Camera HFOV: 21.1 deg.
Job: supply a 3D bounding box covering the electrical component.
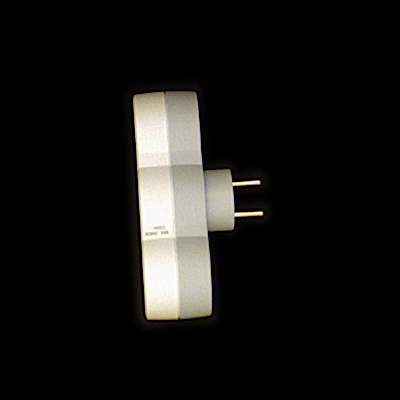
[{"bbox_3d":[0.000,0.000,0.637,0.074,0.138,0.052,-4,-16,-2],"label":"electrical component"}]
